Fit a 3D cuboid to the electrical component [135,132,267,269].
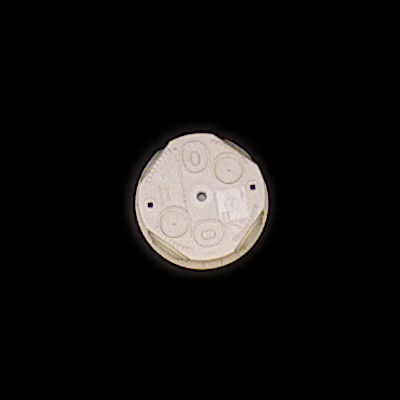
[{"bbox_3d":[0.000,0.000,0.633,0.080,0.080,0.050,0,-7,0],"label":"electrical component"}]
